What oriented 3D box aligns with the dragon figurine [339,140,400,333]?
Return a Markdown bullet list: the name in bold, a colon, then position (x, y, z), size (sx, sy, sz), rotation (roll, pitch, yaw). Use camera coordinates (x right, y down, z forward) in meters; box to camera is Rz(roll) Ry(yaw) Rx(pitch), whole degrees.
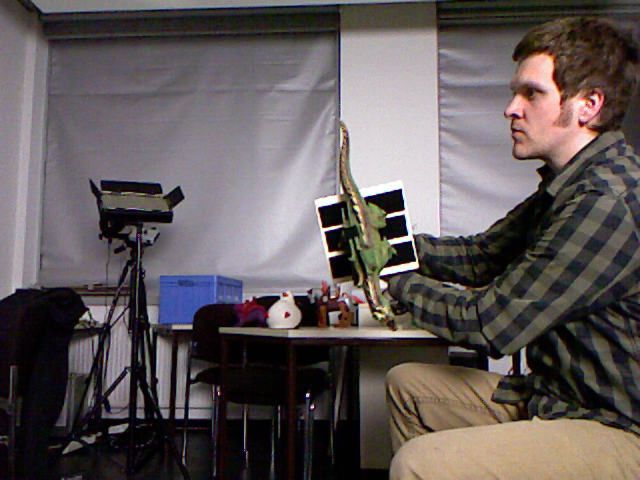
- **dragon figurine**: position (0.087, -0.008, 1.062), size (0.122, 0.411, 0.245), rotation (-17, 4, 7)
